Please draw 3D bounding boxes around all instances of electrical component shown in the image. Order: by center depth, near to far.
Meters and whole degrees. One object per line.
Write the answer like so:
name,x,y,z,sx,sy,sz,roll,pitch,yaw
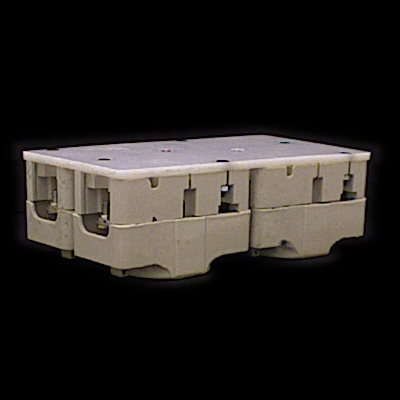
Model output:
electrical component,0.000,0.000,0.644,0.186,0.060,0.104,-6,13,-37
